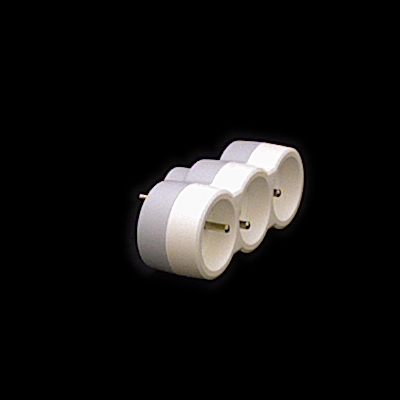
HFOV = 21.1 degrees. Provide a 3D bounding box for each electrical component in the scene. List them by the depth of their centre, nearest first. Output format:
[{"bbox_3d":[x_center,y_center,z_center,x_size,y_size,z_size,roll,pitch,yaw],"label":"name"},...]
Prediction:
[{"bbox_3d":[0.000,0.000,0.638,0.073,0.053,0.137,10,23,28],"label":"electrical component"}]
